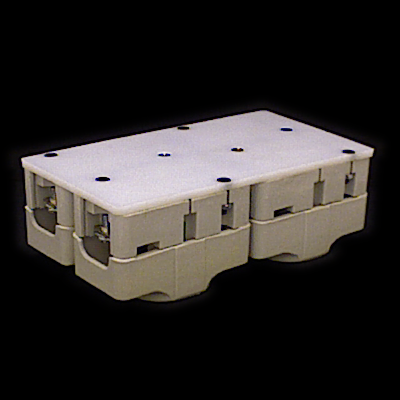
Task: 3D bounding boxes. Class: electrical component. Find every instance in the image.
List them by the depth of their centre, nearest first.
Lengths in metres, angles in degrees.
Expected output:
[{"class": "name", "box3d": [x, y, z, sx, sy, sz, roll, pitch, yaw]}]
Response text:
[{"class": "electrical component", "box3d": [0.000, 0.000, 0.638, 0.186, 0.061, 0.104, -14, 25, -35]}]
